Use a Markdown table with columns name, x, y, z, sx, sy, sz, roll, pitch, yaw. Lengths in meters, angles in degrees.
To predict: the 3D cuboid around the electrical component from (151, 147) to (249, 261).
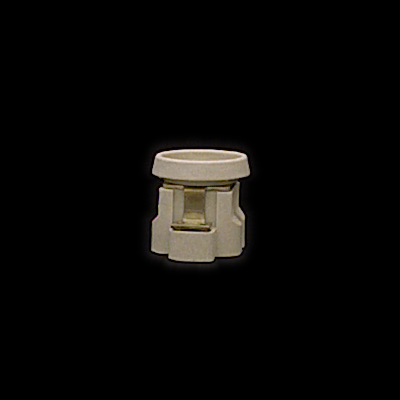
| name | x | y | z | sx | sy | sz | roll | pitch | yaw |
| --- | --- | --- | --- | --- | --- | --- | --- | --- | --- |
| electrical component | 0.000 | 0.000 | 0.642 | 0.058 | 0.057 | 0.078 | 3 | 11 | 7 |
